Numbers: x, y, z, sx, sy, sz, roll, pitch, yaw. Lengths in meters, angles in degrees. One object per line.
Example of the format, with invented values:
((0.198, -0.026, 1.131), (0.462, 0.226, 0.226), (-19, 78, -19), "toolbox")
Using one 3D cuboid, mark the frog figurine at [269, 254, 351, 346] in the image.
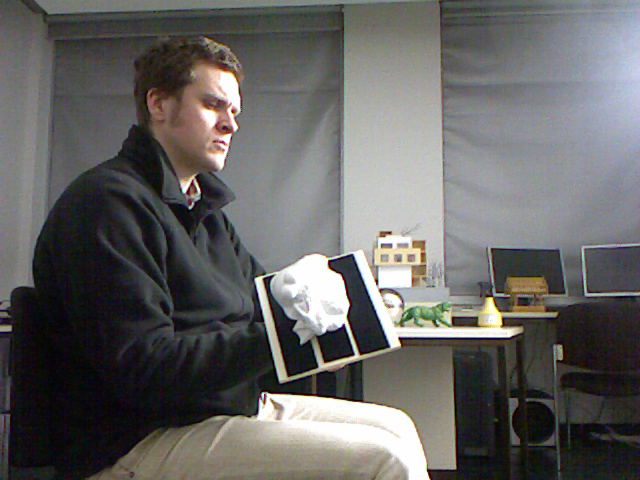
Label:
((-0.013, 0.081, 0.806), (0.123, 0.141, 0.156), (7, -33, 8), "frog figurine")
